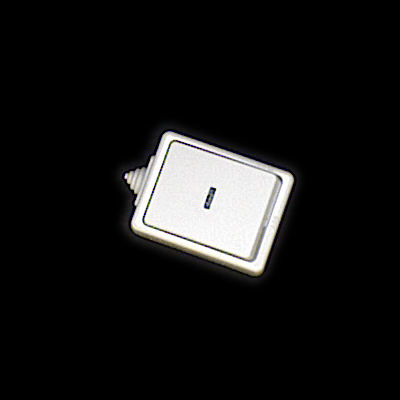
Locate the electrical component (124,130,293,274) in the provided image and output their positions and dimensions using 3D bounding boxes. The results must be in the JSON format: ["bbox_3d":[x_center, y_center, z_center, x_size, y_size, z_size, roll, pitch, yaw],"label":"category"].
[{"bbox_3d":[0.000,0.000,0.627,0.096,0.062,0.061,19,-6,3],"label":"electrical component"}]
